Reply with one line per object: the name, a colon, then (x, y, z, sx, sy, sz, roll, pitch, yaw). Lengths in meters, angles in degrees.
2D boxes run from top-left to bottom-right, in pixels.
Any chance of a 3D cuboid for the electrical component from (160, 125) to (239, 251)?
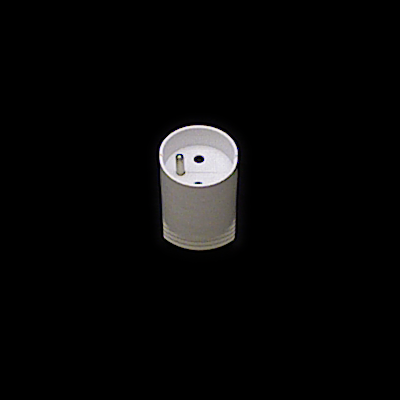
electrical component: (0.000, 0.000, 0.617, 0.043, 0.043, 0.081, 0, -39, 0)
